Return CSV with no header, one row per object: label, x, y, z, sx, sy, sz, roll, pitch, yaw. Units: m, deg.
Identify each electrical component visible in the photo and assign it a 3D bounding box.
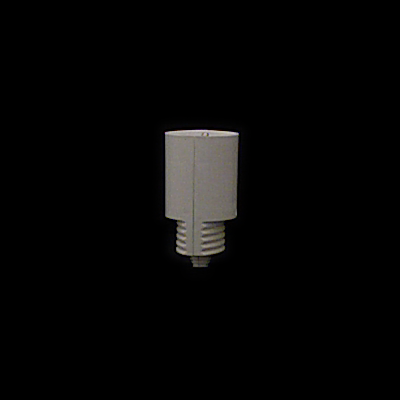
electrical component,0.000,0.000,0.644,0.043,0.081,0.043,2,11,0
